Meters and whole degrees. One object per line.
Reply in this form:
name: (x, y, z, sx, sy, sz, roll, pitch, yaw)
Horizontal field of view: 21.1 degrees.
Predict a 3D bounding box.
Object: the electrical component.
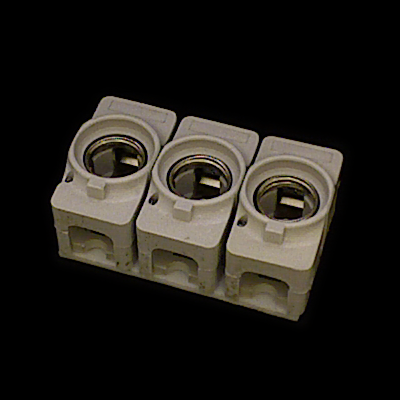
electrical component: (0.000, 0.000, 0.633, 0.150, 0.088, 0.062, 14, -36, 10)
